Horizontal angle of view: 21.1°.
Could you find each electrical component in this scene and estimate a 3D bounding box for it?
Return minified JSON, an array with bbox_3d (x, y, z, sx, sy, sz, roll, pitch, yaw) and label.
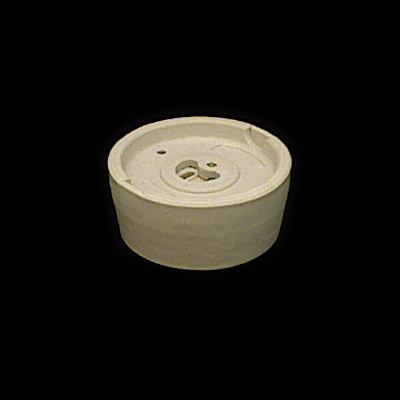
[{"bbox_3d":[0.000,0.000,0.645,0.108,0.061,0.106,1,32,0],"label":"electrical component"}]
